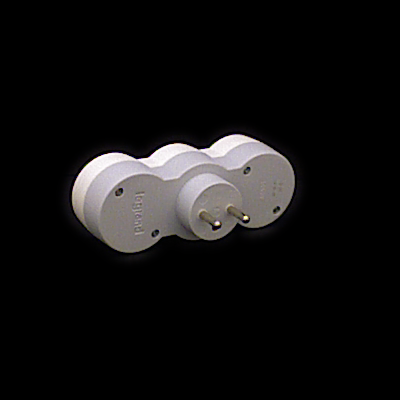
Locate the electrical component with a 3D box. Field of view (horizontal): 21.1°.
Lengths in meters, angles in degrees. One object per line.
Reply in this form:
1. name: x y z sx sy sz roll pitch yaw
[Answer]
1. electrical component: 0.000 0.000 0.643 0.138 0.053 0.073 -10 26 -29
